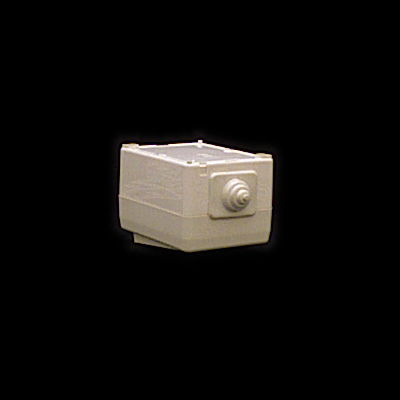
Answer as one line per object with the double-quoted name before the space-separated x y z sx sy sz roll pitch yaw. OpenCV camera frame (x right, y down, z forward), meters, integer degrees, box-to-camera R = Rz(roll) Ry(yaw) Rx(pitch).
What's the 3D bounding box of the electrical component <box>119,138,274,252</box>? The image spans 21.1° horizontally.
"electrical component" 0.000 0.000 0.642 0.062 0.061 0.095 -6 13 -33
